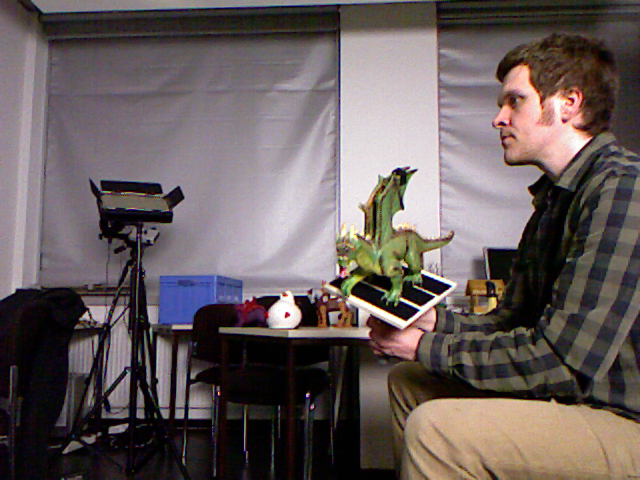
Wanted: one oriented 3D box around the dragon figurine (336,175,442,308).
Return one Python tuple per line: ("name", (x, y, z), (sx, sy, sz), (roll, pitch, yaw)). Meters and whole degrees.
("dragon figurine", (0.153, -0.014, 1.034), (0.123, 0.238, 0.417), (21, 35, 31))
